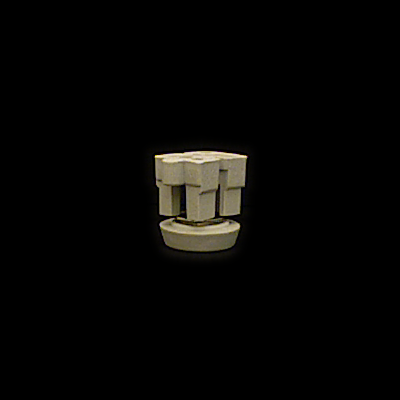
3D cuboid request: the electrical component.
[{"bbox_3d":[0.000,0.000,0.650,0.048,0.056,0.067,10,13,40],"label":"electrical component"}]
